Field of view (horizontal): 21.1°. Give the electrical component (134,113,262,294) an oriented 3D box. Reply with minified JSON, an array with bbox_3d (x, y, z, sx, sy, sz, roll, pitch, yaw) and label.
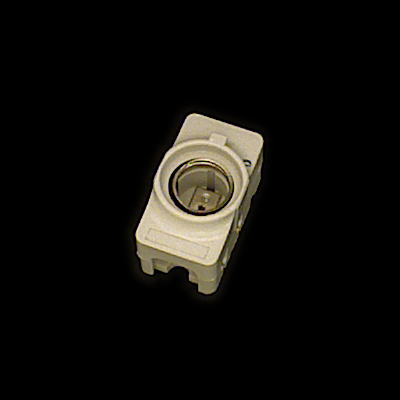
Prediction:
[{"bbox_3d":[0.000,0.000,0.636,0.050,0.090,0.055,18,-25,9],"label":"electrical component"}]
